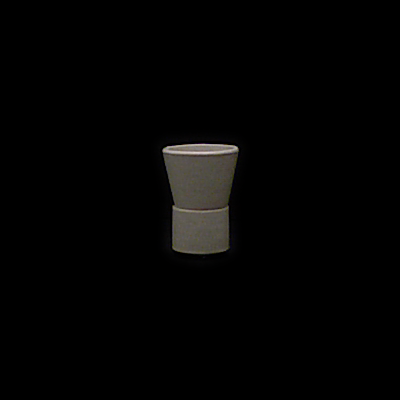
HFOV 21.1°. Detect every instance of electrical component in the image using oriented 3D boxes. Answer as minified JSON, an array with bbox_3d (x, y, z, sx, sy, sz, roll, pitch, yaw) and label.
[{"bbox_3d":[0.000,0.000,0.643,0.044,0.066,0.044,0,12,0],"label":"electrical component"}]
